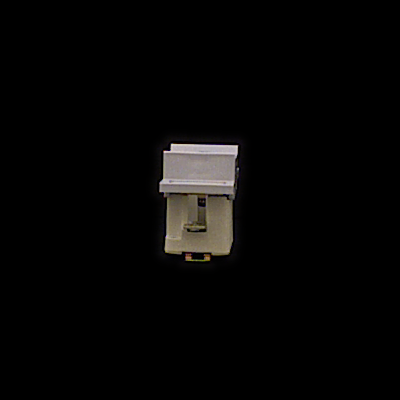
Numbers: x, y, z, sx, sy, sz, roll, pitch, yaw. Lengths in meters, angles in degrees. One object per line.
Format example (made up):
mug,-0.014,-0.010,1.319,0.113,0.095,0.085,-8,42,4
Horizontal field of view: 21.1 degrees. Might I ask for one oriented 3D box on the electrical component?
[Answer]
electrical component,0.000,0.000,0.641,0.042,0.064,0.080,3,10,4
